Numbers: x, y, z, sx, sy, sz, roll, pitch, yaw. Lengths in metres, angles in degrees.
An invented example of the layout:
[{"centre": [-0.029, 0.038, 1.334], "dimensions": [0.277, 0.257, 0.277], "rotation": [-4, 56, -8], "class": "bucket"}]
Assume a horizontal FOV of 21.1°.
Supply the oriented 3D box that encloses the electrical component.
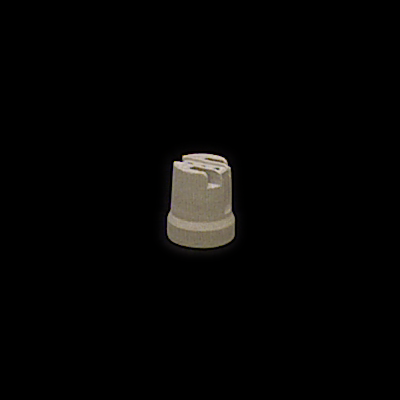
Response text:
[{"centre": [0.000, 0.000, 0.640], "dimensions": [0.040, 0.046, 0.040], "rotation": [0, 22, 0], "class": "electrical component"}]
